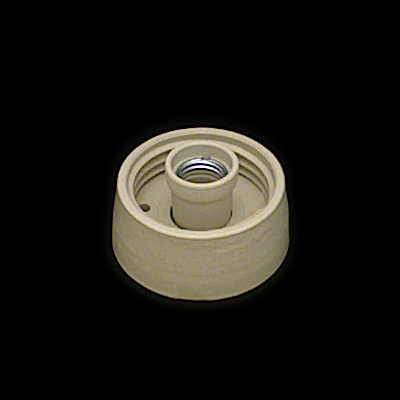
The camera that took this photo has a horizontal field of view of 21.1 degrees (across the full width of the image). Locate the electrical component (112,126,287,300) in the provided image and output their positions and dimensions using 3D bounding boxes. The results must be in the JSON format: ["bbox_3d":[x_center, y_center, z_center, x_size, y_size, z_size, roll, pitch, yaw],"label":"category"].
[{"bbox_3d":[0.000,0.000,0.636,0.108,0.061,0.107,1,42,0],"label":"electrical component"}]
